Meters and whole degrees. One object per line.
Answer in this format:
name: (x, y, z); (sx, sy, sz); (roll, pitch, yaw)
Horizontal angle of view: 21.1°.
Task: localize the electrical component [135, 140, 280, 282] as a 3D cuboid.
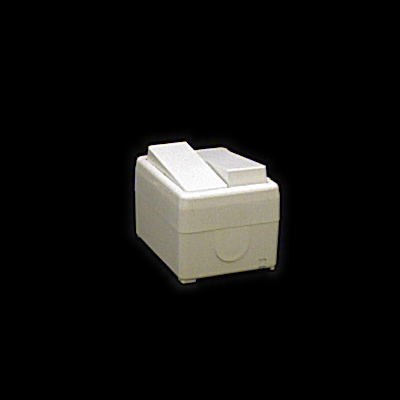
electrical component: (0.000, 0.000, 0.641); (0.062, 0.061, 0.095); (-7, 22, -21)
